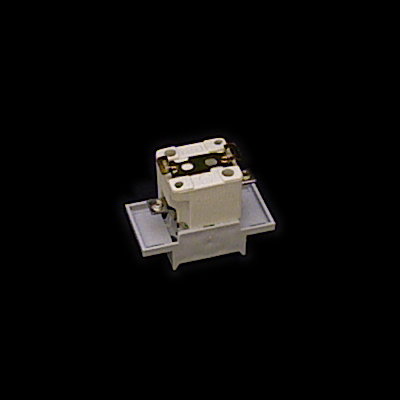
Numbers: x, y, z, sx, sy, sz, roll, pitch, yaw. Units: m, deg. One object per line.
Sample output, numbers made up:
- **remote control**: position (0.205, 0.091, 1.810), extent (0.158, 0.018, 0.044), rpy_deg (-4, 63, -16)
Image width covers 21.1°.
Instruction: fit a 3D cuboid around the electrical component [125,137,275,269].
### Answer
- **electrical component**: position (0.000, 0.000, 0.629), extent (0.081, 0.064, 0.042), rpy_deg (-11, 44, -14)
